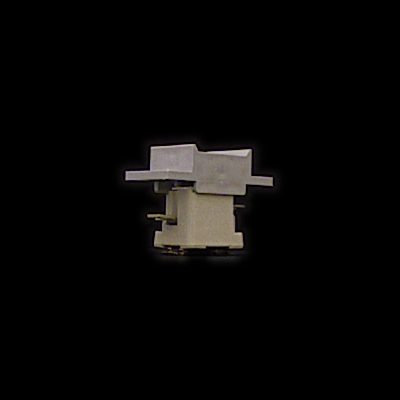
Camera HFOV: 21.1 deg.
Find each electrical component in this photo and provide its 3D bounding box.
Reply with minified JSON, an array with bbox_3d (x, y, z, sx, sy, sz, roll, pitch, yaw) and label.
[{"bbox_3d":[0.000,0.000,0.647,0.081,0.064,0.042,2,1,-39],"label":"electrical component"}]
